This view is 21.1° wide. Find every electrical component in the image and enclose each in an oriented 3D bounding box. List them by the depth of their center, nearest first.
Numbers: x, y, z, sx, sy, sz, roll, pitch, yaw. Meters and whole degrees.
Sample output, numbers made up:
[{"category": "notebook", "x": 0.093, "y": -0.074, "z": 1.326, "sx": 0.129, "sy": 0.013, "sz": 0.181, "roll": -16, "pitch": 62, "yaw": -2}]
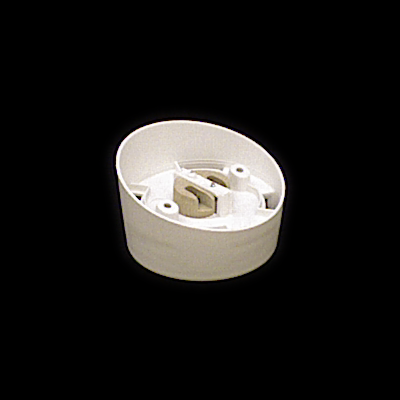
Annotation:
[{"category": "electrical component", "x": 0.000, "y": 0.000, "z": 0.633, "sx": 0.099, "sy": 0.065, "sz": 0.097, "roll": 0, "pitch": 31, "yaw": 0}]
